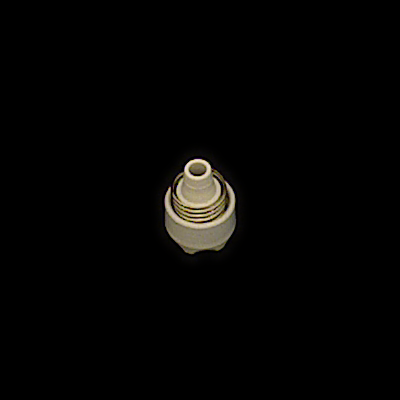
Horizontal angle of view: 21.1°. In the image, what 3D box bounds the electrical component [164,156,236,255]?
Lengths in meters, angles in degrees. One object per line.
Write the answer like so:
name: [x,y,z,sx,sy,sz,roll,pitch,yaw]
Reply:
electrical component: [0.000,0.000,0.635,0.043,0.043,0.062,0,-37,1]
